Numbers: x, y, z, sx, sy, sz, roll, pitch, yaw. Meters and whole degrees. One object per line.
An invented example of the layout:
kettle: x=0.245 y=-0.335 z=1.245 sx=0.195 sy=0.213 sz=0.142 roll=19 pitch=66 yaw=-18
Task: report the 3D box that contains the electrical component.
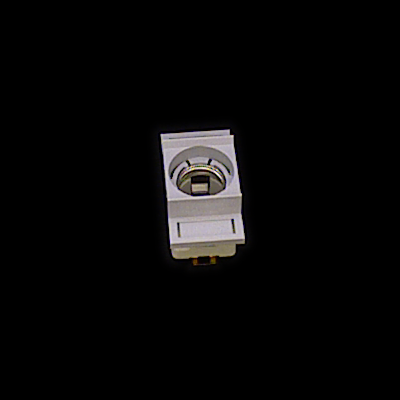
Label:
electrical component: x=0.000 y=0.000 z=0.627 sx=0.042 sy=0.080 sz=0.064 roll=-4 pitch=-37 yaw=-2
